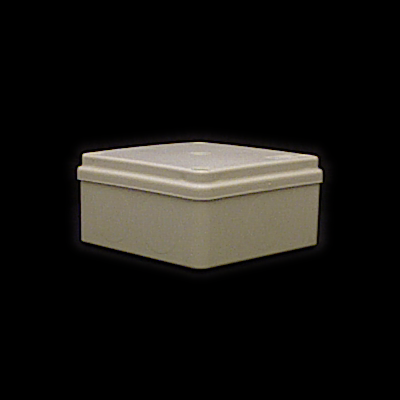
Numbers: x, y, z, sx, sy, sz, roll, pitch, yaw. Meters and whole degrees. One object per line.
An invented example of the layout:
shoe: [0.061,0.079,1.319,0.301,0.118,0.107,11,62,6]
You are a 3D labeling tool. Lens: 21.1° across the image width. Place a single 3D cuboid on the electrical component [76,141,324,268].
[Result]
electrical component: [0.000,0.000,0.645,0.108,0.056,0.109,10,14,43]
